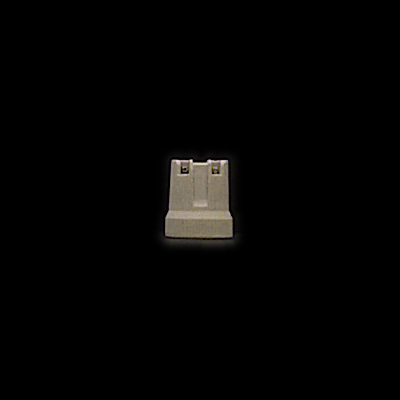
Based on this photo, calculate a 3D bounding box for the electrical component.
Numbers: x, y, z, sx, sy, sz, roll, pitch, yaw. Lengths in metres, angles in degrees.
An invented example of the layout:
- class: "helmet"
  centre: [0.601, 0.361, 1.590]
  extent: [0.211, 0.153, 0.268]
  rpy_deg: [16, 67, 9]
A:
- class: "electrical component"
  centre: [0.000, 0.000, 0.649]
  extent: [0.040, 0.046, 0.040]
  rpy_deg: [1, 1, 0]
